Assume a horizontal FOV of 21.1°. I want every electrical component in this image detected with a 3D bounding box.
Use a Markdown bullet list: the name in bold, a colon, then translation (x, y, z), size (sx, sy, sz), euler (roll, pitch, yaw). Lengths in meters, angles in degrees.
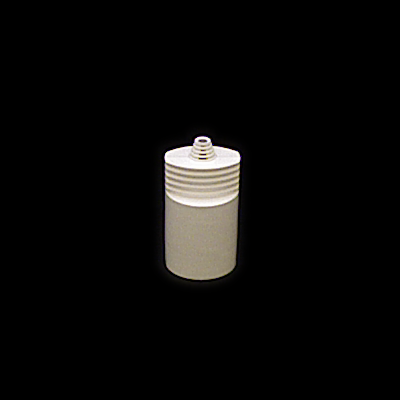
- **electrical component**: translation (0.000, 0.000, 0.629), size (0.043, 0.082, 0.042), euler (1, 31, 0)
